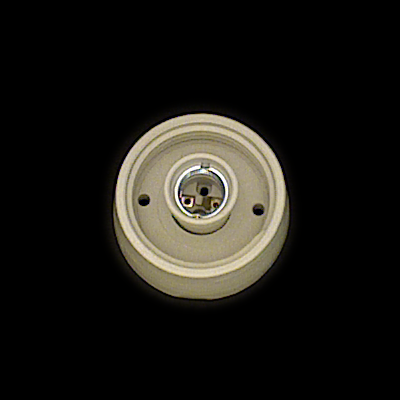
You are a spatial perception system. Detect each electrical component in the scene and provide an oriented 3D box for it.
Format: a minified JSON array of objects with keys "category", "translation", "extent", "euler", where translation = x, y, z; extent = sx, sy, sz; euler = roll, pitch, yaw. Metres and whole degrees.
[{"category":"electrical component","translation":[0.000,0.000,0.633],"extent":[0.108,0.108,0.060],"euler":[0,-16,0]}]
